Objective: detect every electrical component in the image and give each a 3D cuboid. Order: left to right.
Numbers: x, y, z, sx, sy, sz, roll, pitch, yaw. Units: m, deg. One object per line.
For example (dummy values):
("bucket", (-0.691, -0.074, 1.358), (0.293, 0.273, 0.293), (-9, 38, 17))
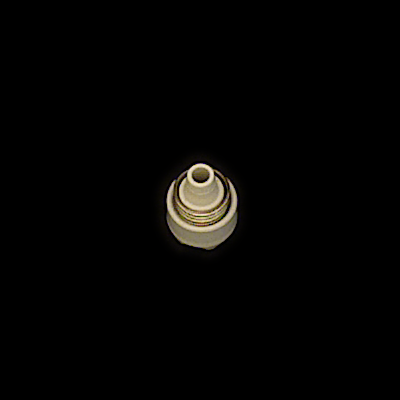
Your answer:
("electrical component", (0.000, 0.000, 0.634), (0.043, 0.043, 0.062), (0, -28, 1))
